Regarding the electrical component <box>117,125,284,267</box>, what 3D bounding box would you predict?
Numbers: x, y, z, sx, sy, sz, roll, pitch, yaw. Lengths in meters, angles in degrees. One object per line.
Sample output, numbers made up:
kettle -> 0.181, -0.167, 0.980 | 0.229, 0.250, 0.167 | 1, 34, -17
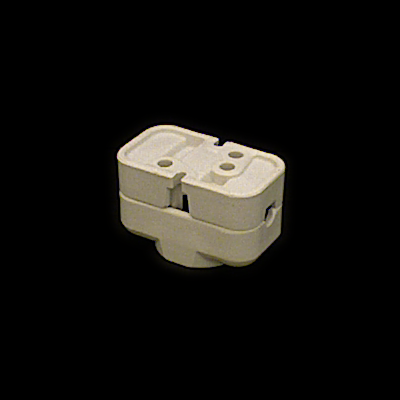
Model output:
electrical component -> 0.000, 0.000, 0.644 | 0.094, 0.060, 0.053 | 17, 36, 25
